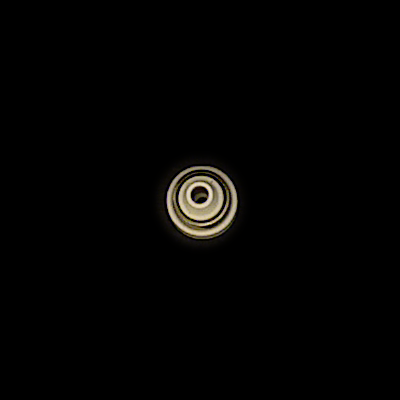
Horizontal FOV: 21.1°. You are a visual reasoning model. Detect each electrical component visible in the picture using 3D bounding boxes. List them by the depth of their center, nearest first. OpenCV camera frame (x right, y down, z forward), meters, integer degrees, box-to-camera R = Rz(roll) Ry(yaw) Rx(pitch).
[{"bbox_3d":[0.000,0.000,0.635,0.043,0.043,0.062,0,-6,2],"label":"electrical component"}]
